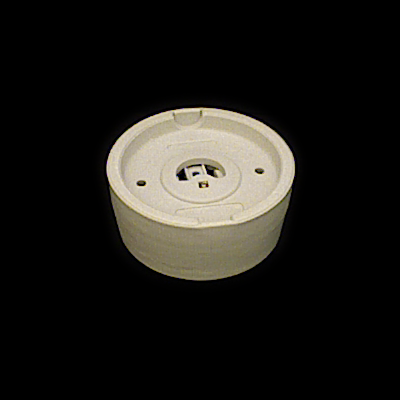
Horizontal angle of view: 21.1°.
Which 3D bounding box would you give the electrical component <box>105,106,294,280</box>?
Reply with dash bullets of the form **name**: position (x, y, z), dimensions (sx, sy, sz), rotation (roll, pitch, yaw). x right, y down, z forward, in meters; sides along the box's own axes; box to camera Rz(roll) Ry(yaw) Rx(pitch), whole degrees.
- **electrical component**: position (0.000, 0.000, 0.636), dimensions (0.108, 0.061, 0.107), rotation (1, 42, 0)
